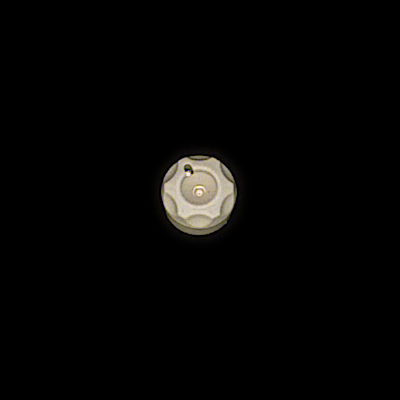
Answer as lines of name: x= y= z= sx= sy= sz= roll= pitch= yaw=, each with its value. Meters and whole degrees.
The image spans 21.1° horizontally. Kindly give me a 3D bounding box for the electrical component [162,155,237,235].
electrical component: x=0.000 y=0.000 z=0.634 sx=0.043 sy=0.043 sz=0.061 roll=0 pitch=-15 yaw=0
